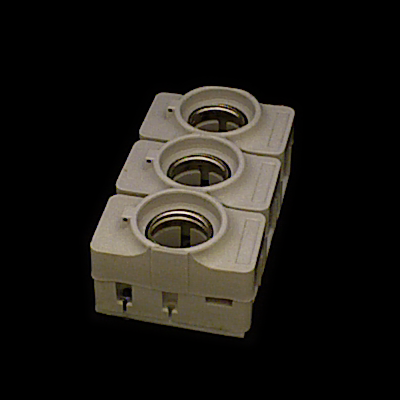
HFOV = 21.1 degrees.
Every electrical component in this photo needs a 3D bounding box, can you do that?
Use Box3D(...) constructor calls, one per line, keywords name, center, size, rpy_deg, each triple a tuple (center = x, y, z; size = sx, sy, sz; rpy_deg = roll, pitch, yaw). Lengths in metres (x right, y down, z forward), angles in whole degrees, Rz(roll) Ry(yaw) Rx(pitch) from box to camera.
Box3D(name="electrical component", center=(0.000, 0.000, 0.636), size=(0.089, 0.063, 0.147), rpy_deg=(8, 42, 9))
